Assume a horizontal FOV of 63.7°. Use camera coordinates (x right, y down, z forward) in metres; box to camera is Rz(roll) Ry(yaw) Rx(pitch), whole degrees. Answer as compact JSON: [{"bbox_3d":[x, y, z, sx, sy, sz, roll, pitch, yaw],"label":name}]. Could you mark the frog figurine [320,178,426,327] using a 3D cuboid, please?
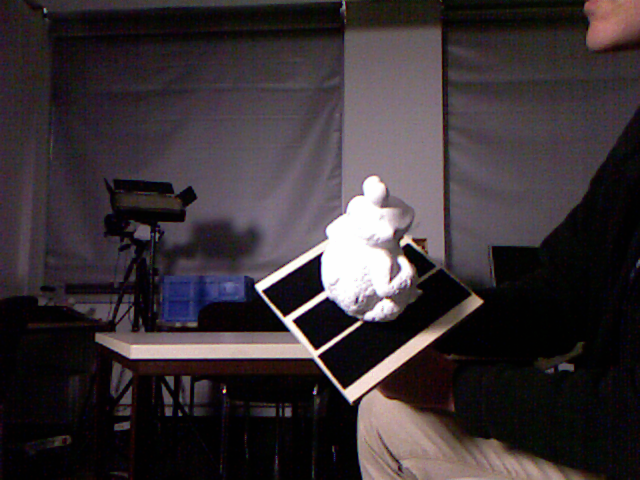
[{"bbox_3d":[0.058,0.017,0.583,0.123,0.140,0.156,-25,-35,-11],"label":"frog figurine"}]
